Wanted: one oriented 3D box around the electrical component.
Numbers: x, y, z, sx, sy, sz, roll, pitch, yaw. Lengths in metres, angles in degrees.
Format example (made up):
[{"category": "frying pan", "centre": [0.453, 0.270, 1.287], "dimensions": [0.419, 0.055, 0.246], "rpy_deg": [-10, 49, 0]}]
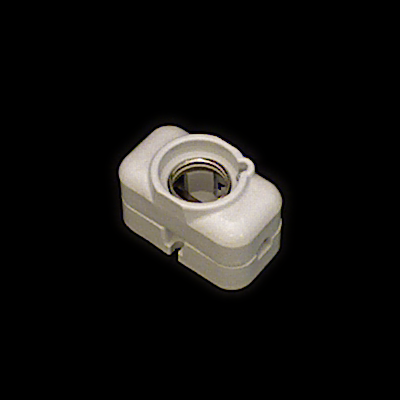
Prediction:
[{"category": "electrical component", "centre": [0.000, 0.000, 0.636], "dimensions": [0.094, 0.054, 0.059], "rpy_deg": [32, -31, 21]}]
